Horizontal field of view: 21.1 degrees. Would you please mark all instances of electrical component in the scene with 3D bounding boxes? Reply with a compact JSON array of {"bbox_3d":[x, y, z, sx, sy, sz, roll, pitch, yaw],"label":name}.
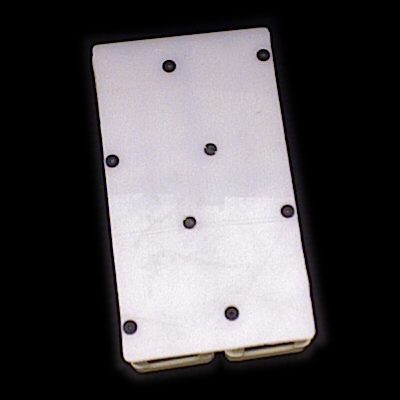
[{"bbox_3d":[0.000,0.000,0.625,0.105,0.187,0.060,-7,-17,-2],"label":"electrical component"}]
